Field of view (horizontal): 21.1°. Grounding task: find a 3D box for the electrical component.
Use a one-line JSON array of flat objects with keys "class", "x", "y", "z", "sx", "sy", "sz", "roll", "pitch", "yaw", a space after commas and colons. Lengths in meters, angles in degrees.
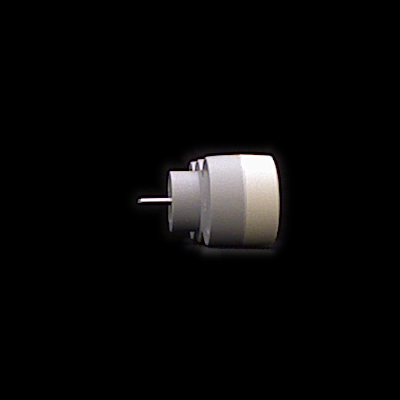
[{"class": "electrical component", "x": 0.000, "y": 0.000, "z": 0.647, "sx": 0.074, "sy": 0.052, "sz": 0.138, "roll": -1, "pitch": 1, "yaw": -6}]
